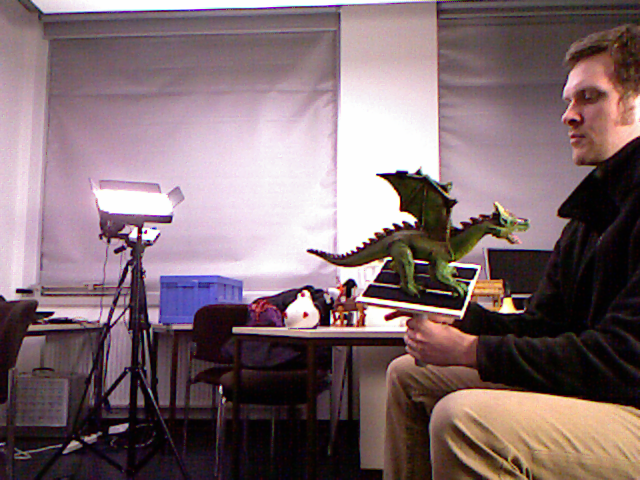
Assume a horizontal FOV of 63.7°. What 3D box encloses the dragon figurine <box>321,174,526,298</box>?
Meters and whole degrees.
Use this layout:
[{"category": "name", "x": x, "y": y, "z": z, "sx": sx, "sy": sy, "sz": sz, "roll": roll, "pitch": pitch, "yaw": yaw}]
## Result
[{"category": "dragon figurine", "x": 0.181, "y": -0.021, "z": 1.006, "sx": 0.411, "sy": 0.238, "sz": 0.125, "roll": 6, "pitch": 30, "yaw": 20}]
